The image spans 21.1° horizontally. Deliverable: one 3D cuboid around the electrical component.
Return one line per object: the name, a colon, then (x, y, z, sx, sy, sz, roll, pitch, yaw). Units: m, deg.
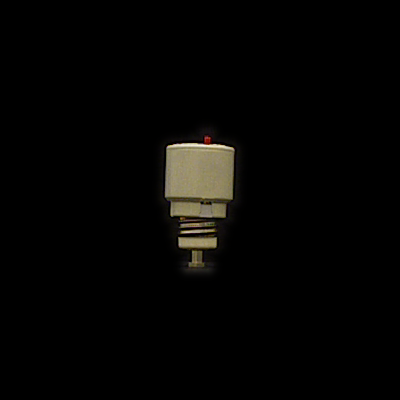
electrical component: (0.000, 0.000, 0.647, 0.040, 0.078, 0.040, 1, 1, 0)
